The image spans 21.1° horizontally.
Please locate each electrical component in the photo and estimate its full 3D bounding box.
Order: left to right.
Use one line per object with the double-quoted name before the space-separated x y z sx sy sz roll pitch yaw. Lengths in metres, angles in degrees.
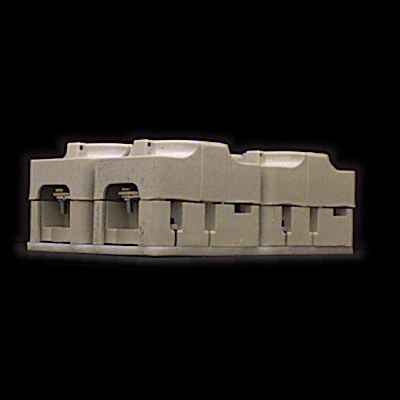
"electrical component" 0.000 0.000 0.649 0.105 0.060 0.187 1 0 42
